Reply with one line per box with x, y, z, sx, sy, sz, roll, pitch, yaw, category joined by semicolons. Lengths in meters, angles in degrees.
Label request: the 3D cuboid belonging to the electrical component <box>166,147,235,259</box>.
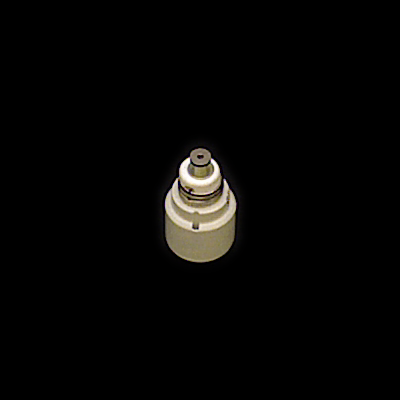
0.000;0.000;0.620;0.040;0.040;0.078;0;-39;0;electrical component
